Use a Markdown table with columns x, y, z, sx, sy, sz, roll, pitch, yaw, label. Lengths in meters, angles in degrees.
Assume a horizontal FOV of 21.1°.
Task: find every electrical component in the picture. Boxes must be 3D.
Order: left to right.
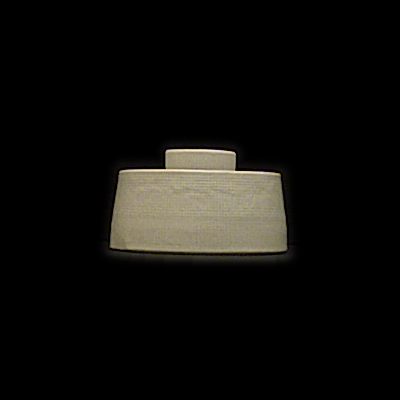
| x | y | z | sx | sy | sz | roll | pitch | yaw | label |
| --- | --- | --- | --- | --- | --- | --- | --- | --- | --- |
| 0.000 | 0.000 | 0.655 | 0.108 | 0.060 | 0.108 | 2 | 1 | 1 | electrical component |
